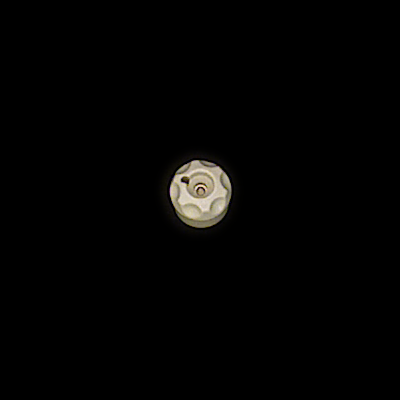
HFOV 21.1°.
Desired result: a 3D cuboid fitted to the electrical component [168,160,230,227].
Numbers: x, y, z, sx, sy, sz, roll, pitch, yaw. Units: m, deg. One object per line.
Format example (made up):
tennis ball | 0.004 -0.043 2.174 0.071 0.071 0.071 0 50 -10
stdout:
electrical component | 0.000 0.000 0.634 0.035 0.035 0.061 0 -16 1
